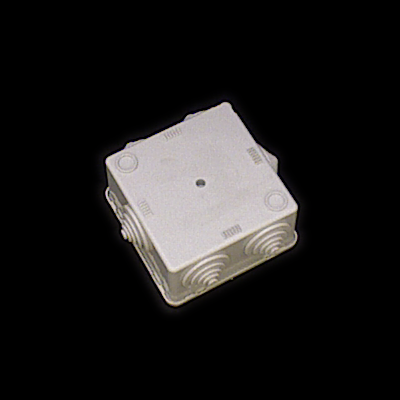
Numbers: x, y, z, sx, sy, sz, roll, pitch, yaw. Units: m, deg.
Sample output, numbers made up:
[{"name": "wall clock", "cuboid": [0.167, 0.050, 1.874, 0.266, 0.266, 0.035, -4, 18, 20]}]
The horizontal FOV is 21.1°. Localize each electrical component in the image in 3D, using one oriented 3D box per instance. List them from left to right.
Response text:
[{"name": "electrical component", "cuboid": [0.000, 0.000, 0.632, 0.100, 0.099, 0.048, -26, -24, -13]}]
